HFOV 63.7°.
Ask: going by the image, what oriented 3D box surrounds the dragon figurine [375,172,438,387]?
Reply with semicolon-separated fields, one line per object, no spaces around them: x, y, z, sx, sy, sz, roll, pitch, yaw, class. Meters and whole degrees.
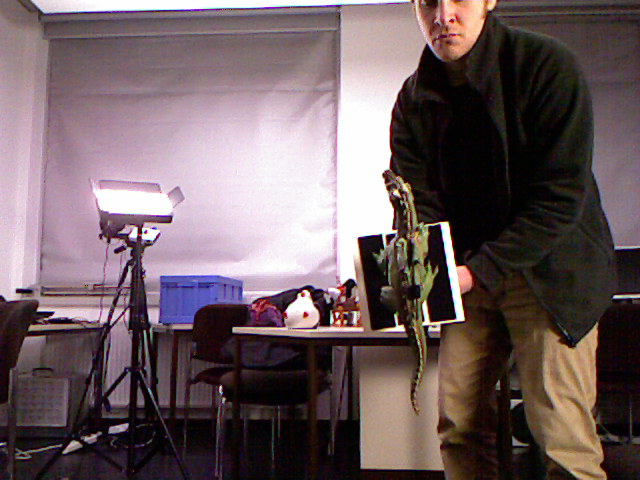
0.161;0.079;0.935;0.122;0.414;0.242;-10;-6;9;dragon figurine
